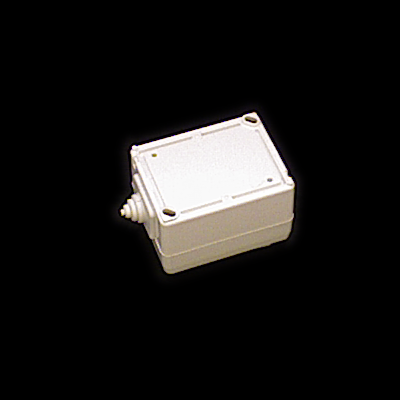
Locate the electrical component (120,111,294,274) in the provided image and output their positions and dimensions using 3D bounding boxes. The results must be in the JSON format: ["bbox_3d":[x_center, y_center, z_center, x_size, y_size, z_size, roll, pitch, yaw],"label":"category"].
[{"bbox_3d":[0.000,0.000,0.630,0.096,0.061,0.061,-16,-36,-12],"label":"electrical component"}]
